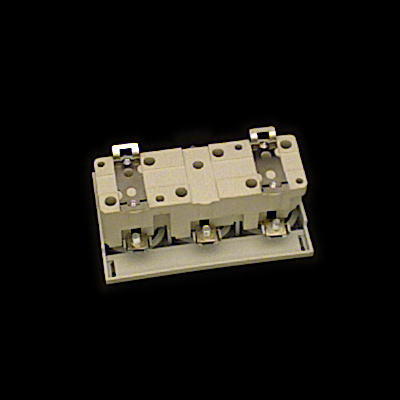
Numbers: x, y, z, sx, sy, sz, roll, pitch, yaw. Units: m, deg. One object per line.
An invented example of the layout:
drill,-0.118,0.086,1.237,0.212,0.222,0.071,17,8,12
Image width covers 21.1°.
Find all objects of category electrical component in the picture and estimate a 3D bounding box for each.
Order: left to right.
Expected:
electrical component,0.000,0.000,0.633,0.122,0.078,0.063,-8,-36,-6
